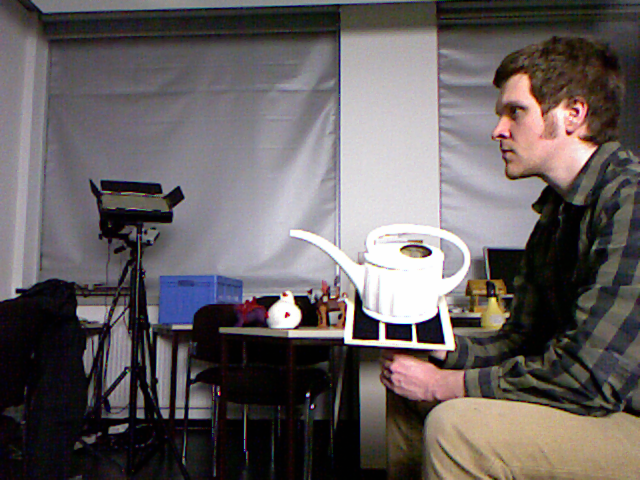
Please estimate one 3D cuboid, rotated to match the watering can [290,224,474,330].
[{"bbox_3d":[0.116,0.066,0.996,0.348,0.220,0.106,2,29,0],"label":"watering can"}]
